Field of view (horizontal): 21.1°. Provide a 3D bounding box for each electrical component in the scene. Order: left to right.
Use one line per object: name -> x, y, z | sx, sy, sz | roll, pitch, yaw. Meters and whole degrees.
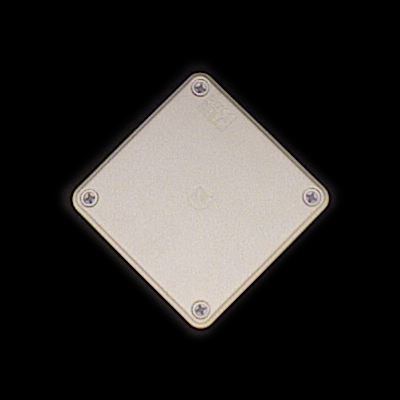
electrical component -> 0.000, 0.000, 0.630 | 0.109, 0.109, 0.056 | 45, -4, 5
